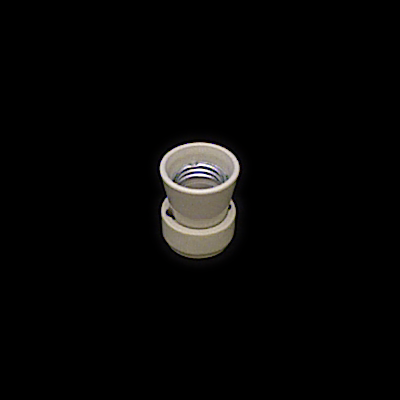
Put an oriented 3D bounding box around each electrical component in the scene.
[{"bbox_3d":[0.000,0.000,0.631,0.045,0.055,0.044,0,43,0],"label":"electrical component"}]
